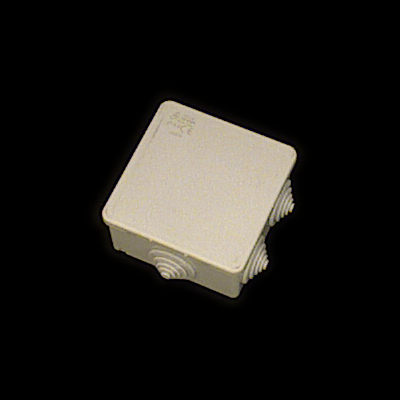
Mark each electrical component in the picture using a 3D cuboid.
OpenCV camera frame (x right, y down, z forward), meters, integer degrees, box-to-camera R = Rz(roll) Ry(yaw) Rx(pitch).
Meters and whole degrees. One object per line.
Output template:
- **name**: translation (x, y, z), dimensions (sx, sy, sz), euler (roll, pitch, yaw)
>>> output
- **electrical component**: translation (0.000, 0.000, 0.640), dimensions (0.099, 0.100, 0.048), euler (22, -24, 11)
